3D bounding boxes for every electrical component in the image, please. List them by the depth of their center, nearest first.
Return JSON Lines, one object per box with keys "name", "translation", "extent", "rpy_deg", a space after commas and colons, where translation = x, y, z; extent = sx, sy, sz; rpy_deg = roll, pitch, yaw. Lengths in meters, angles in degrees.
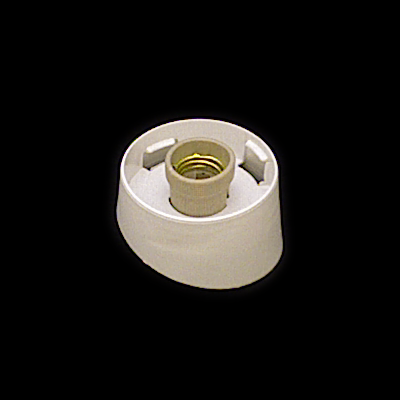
{"name": "electrical component", "translation": [0.000, 0.000, 0.629], "extent": [0.099, 0.064, 0.098], "rpy_deg": [1, 42, -1]}
